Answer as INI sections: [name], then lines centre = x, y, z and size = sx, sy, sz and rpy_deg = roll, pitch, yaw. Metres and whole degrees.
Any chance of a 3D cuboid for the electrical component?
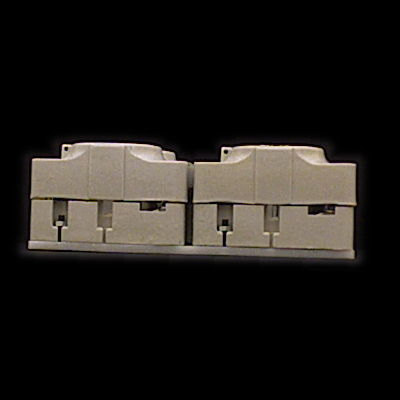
[electrical component]
centre = 0.000, 0.000, 0.648
size = 0.186, 0.060, 0.105
rpy_deg = 1, 0, 7
